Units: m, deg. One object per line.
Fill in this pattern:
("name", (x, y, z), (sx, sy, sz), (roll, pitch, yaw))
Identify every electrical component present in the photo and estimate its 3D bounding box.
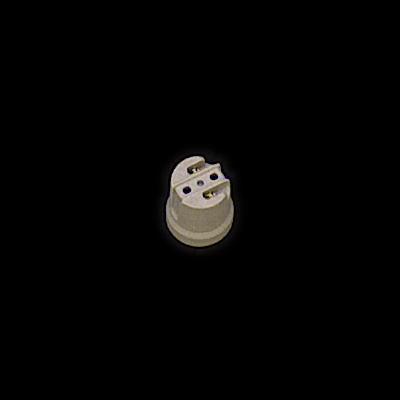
("electrical component", (0.000, 0.000, 0.633), (0.040, 0.040, 0.046), (0, -26, 0))
